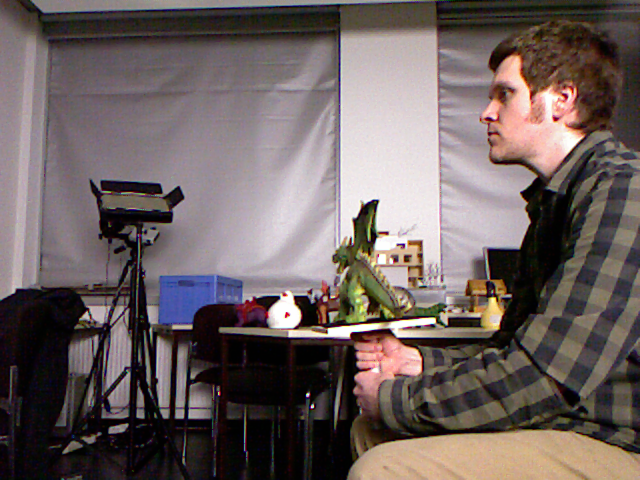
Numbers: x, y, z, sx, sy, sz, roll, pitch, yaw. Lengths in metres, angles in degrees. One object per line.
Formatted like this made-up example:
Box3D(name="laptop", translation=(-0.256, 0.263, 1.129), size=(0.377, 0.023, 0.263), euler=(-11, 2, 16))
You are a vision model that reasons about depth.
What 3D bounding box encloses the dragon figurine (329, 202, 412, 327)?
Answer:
Box3D(name="dragon figurine", translation=(0.094, 0.044, 1.032), size=(0.122, 0.244, 0.407), euler=(-3, -7, -15))
